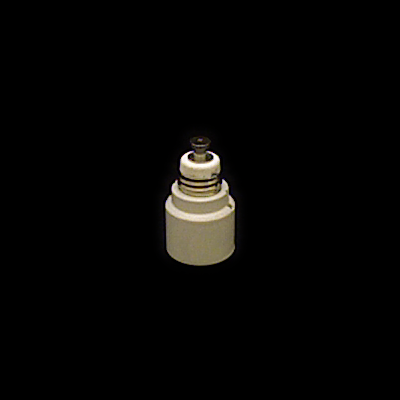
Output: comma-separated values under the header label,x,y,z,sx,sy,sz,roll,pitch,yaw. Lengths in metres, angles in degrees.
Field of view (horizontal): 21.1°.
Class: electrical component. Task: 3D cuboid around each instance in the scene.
label,x,y,z,sx,sy,sz,roll,pitch,yaw
electrical component,0.000,0.000,0.629,0.040,0.079,0.039,0,31,0
